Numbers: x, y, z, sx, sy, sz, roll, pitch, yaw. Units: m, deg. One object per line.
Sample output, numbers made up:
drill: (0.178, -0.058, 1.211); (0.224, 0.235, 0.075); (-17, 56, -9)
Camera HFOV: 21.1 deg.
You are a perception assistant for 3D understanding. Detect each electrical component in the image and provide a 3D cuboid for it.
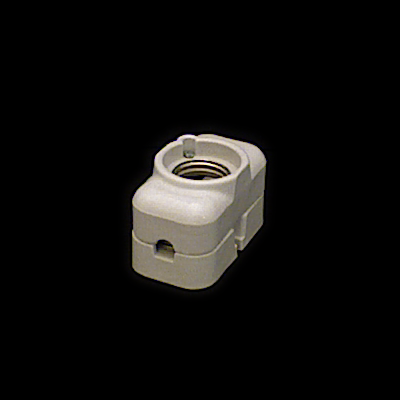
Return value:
electrical component: (0.000, 0.000, 0.642); (0.053, 0.060, 0.095); (15, 34, 21)
